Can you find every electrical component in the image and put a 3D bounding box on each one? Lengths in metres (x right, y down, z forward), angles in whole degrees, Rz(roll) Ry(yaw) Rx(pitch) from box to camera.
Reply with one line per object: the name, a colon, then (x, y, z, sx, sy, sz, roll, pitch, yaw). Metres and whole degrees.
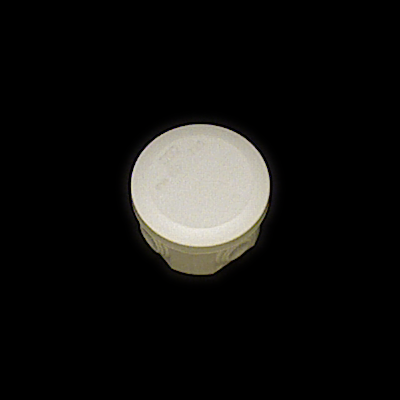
electrical component: (0.000, 0.000, 0.631, 0.080, 0.080, 0.050, 0, -27, -1)
